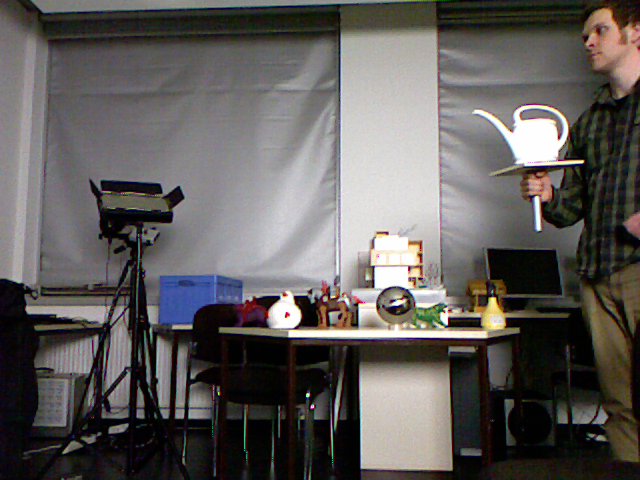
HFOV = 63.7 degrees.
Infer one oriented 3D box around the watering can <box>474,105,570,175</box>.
[{"bbox_3d":[0.657,-0.322,1.666,0.348,0.224,0.104,-5,4,-13],"label":"watering can"}]
